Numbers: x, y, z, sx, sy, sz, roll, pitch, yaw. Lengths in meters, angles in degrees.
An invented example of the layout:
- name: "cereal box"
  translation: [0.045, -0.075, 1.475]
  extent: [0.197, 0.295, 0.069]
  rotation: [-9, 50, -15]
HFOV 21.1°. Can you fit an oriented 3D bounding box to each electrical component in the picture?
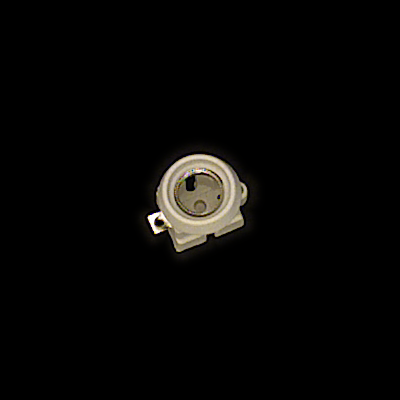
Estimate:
- name: "electrical component"
  translation: [0.000, 0.000, 0.637]
  extent: [0.067, 0.048, 0.055]
  rotation: [-24, -17, -7]
